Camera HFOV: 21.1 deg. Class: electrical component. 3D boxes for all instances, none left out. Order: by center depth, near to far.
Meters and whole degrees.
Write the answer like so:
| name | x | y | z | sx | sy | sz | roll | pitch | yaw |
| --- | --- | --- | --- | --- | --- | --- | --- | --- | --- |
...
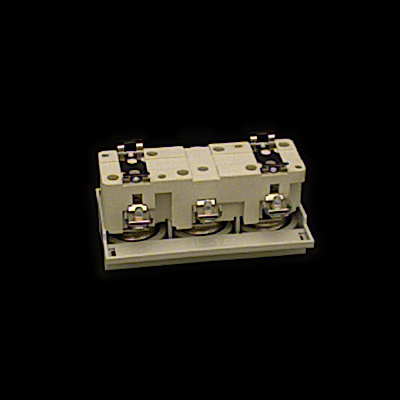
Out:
| name | x | y | z | sx | sy | sz | roll | pitch | yaw |
| --- | --- | --- | --- | --- | --- | --- | --- | --- | --- |
| electrical component | 0.000 | 0.000 | 0.644 | 0.122 | 0.064 | 0.077 | -4 | 32 | -9 |
